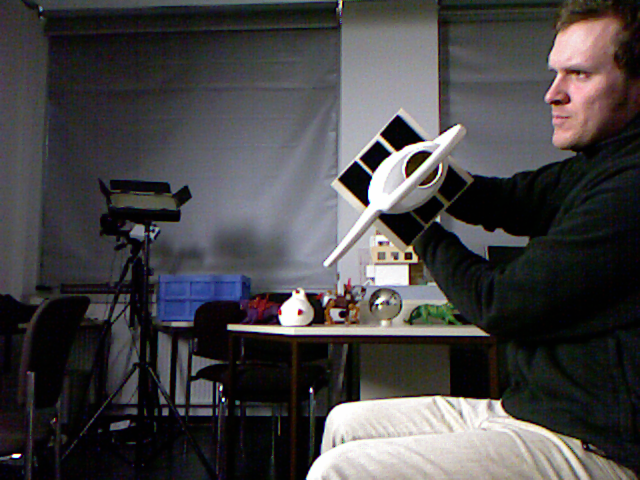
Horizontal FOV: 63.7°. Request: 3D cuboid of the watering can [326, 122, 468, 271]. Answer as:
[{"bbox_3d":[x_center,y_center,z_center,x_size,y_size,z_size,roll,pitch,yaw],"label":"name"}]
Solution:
[{"bbox_3d":[0.131,-0.087,0.953,0.349,0.104,0.226,-44,5,2],"label":"watering can"}]
